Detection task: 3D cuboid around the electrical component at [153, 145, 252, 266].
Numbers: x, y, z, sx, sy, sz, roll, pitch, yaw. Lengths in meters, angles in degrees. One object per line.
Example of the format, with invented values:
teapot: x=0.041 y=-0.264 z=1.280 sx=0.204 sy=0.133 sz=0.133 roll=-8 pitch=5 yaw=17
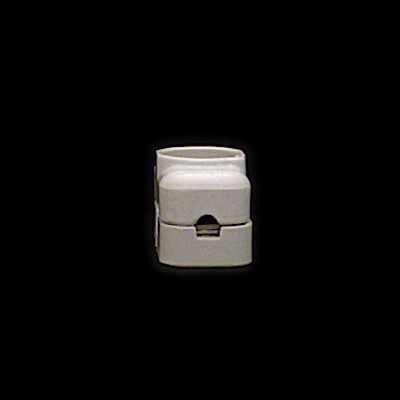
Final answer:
electrical component: x=0.000 y=0.000 z=0.651 sx=0.054 sy=0.060 sz=0.094 roll=-1 pitch=12 yaw=-6
